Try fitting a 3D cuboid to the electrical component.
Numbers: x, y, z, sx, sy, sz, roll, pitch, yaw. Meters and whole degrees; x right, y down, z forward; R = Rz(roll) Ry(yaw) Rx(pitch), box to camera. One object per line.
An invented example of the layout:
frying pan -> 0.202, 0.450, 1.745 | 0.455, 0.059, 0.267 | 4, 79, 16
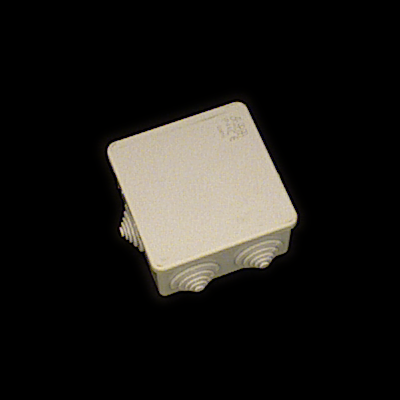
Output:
electrical component -> 0.000, 0.000, 0.641 | 0.100, 0.099, 0.048 | -19, -25, -9
